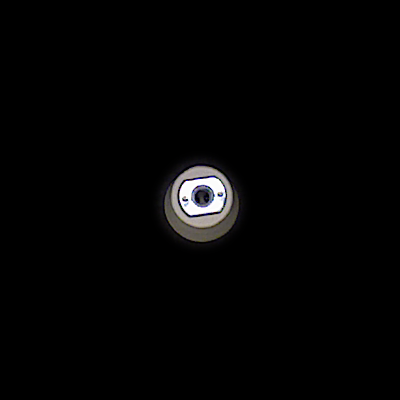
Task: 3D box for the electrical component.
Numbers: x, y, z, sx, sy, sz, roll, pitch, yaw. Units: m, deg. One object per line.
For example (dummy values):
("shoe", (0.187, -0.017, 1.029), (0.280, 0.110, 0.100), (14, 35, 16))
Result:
("electrical component", (0.000, 0.000, 0.626), (0.044, 0.044, 0.065), (0, -5, 0))
